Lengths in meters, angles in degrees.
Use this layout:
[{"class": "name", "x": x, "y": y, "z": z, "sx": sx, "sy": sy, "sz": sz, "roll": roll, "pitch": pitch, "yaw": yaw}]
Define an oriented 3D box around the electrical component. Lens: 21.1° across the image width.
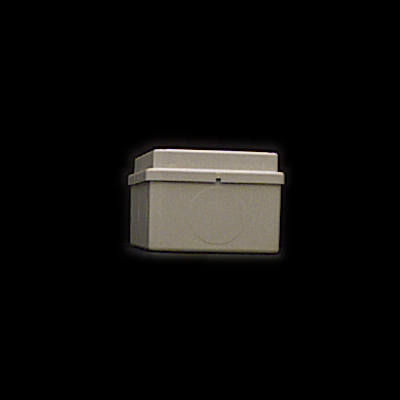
[{"class": "electrical component", "x": 0.000, "y": 0.000, "z": 0.650, "sx": 0.078, "sy": 0.057, "sz": 0.113, "roll": 1, "pitch": 0, "yaw": -10}]
